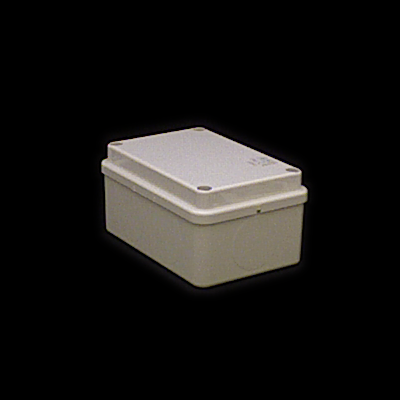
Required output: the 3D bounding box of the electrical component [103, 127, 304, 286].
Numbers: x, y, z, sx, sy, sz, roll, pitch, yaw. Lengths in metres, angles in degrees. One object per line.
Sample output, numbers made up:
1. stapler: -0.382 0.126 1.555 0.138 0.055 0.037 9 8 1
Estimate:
1. electrical component: 0.000 0.000 0.640 0.078 0.058 0.112 -13 25 -32
